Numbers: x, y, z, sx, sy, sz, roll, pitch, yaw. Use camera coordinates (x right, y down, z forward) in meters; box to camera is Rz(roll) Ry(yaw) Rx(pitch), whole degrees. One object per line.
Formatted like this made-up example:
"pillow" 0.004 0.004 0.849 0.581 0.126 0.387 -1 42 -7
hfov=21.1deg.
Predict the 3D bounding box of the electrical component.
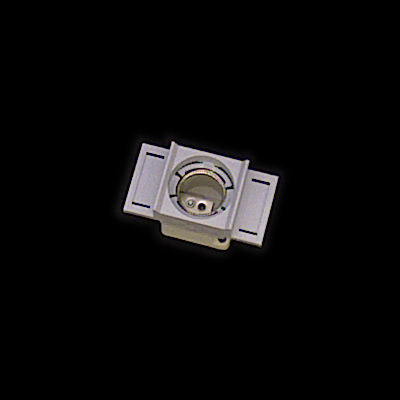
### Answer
"electrical component" 0.000 0.000 0.624 0.081 0.042 0.063 15 -15 4
